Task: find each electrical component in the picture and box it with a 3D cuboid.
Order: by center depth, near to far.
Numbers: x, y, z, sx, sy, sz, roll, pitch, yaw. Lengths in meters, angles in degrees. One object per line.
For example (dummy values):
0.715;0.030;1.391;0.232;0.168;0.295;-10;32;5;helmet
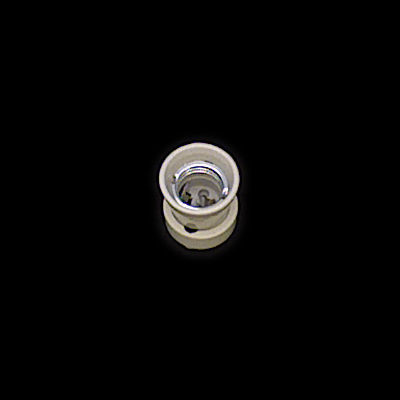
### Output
0.000;0.000;0.627;0.045;0.045;0.055;0;-28;0;electrical component
